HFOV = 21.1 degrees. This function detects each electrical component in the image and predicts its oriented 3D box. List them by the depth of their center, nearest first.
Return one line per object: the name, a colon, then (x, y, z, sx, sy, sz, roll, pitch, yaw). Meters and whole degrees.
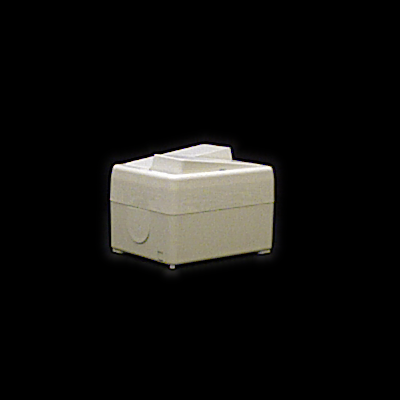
electrical component: (0.000, 0.000, 0.646, 0.096, 0.061, 0.061, -7, 14, -39)
